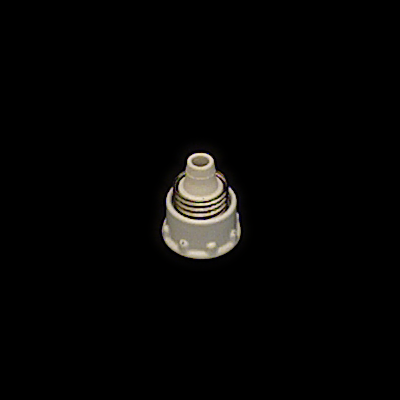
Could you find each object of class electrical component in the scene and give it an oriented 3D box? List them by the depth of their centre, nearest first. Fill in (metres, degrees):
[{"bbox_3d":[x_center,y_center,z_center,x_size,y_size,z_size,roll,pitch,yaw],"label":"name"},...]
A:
[{"bbox_3d":[0.000,0.000,0.638,0.048,0.062,0.047,0,41,0],"label":"electrical component"}]
